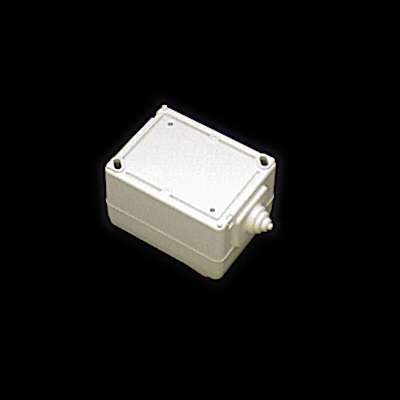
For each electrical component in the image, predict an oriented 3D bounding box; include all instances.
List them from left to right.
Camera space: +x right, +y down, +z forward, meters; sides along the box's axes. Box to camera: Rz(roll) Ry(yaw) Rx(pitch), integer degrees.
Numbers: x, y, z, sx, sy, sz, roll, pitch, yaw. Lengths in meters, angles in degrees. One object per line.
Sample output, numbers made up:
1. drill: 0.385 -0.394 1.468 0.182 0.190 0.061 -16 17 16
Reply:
1. electrical component: 0.000 0.000 0.626 0.096 0.061 0.061 27 -34 20
